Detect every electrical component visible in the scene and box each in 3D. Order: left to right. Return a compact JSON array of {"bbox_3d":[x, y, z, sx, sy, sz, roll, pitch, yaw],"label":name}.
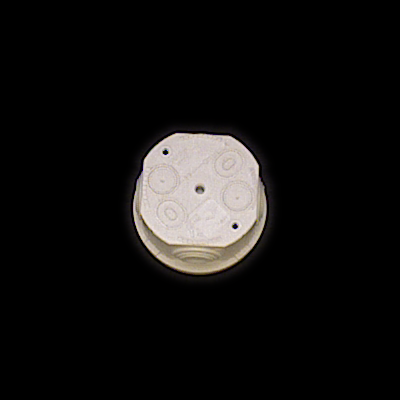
[{"bbox_3d":[0.000,0.000,0.632,0.080,0.080,0.050,0,-17,-1],"label":"electrical component"}]
